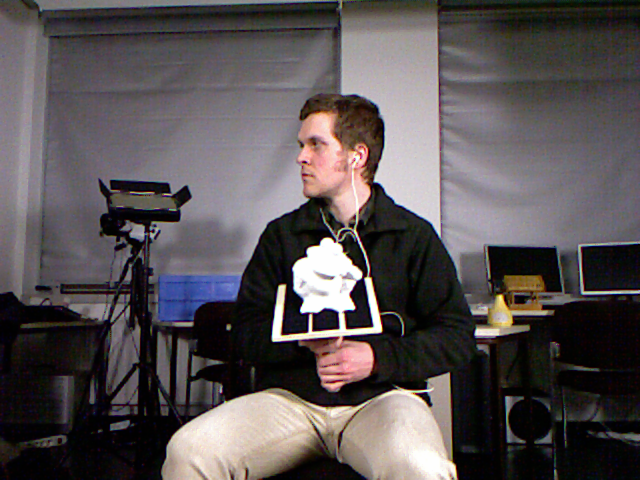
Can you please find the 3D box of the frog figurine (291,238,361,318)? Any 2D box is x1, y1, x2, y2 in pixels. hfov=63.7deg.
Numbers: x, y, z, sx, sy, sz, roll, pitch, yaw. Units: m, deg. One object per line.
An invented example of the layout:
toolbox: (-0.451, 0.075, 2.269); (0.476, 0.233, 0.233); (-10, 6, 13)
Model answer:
frog figurine: (0.009, 0.059, 0.996); (0.137, 0.157, 0.125); (5, 27, 20)
